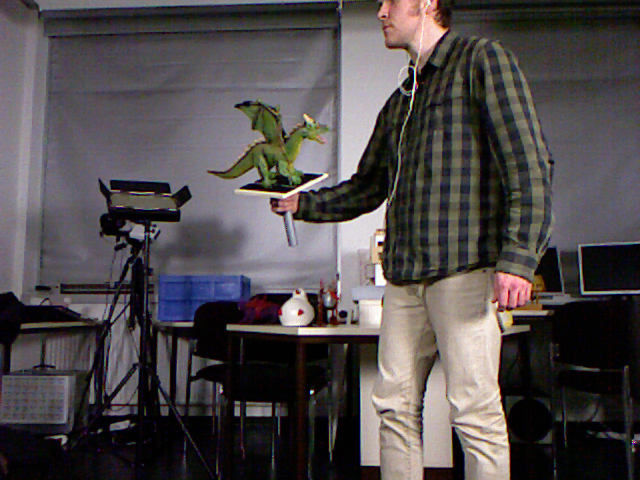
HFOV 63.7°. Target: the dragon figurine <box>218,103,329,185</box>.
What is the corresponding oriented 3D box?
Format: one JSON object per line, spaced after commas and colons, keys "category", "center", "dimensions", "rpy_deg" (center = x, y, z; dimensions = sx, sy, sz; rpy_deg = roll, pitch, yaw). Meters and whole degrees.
{"category": "dragon figurine", "center": [-0.162, -0.282, 1.497], "dimensions": [0.410, 0.238, 0.124], "rpy_deg": [2, 27, 25]}
